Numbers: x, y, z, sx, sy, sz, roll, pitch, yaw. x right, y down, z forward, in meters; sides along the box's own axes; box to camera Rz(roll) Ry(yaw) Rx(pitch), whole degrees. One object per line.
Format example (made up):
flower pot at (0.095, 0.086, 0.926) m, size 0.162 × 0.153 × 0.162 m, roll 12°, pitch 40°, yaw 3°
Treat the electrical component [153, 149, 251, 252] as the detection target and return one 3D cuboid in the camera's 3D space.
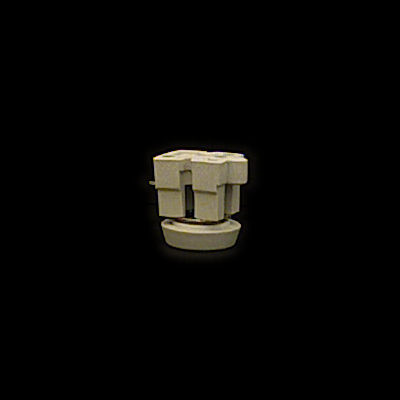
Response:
electrical component at (0.000, 0.000, 0.652) m, size 0.066 × 0.056 × 0.048 m, roll 6°, pitch 14°, yaw 25°
